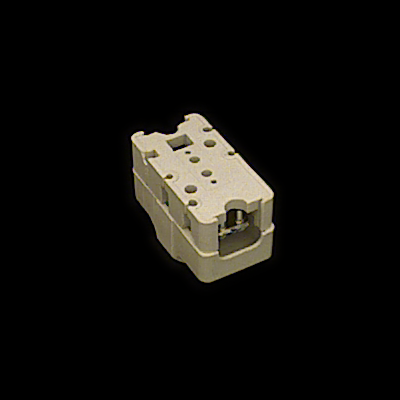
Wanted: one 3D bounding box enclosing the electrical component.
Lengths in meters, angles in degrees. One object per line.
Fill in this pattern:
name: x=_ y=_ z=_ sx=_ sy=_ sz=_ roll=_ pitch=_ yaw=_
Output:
electrical component: x=0.000 y=0.000 z=0.639 sx=0.050 sy=0.056 sz=0.088 roll=-22 pitch=47 yaw=-21
